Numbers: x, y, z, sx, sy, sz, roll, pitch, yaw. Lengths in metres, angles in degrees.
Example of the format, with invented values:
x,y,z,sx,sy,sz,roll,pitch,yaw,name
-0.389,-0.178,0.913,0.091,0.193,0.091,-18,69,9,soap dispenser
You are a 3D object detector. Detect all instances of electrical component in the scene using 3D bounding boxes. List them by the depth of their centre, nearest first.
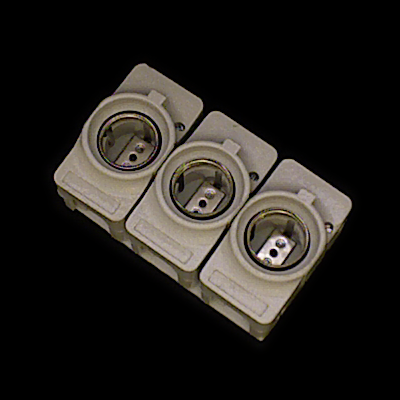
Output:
x,y,z,sx,sy,sz,roll,pitch,yaw,name
0.000,0.000,0.632,0.150,0.089,0.062,34,-14,9,electrical component
